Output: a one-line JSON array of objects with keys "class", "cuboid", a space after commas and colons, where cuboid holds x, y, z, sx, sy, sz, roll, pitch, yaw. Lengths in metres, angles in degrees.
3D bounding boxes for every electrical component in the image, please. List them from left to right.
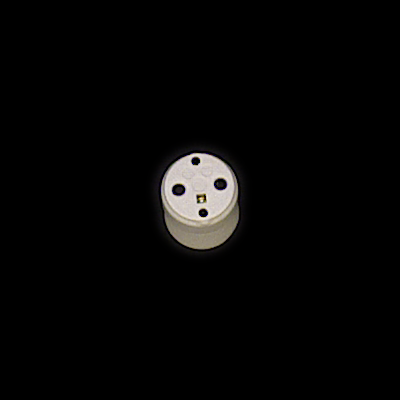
[{"class": "electrical component", "cuboid": [0.000, 0.000, 0.629, 0.045, 0.045, 0.055, 0, -17, 1]}]
